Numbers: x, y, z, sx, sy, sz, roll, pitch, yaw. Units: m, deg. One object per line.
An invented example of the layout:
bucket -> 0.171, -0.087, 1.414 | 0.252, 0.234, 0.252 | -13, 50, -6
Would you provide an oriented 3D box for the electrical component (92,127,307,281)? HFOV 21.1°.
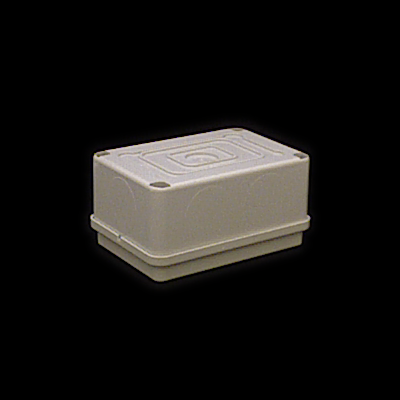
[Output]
electrical component -> 0.000, 0.000, 0.639 | 0.113, 0.058, 0.077 | -13, 25, -32
